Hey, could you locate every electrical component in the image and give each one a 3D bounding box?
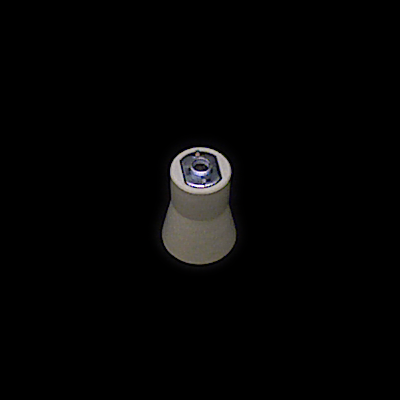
[{"bbox_3d":[0.000,0.000,0.626,0.044,0.044,0.065,0,-38,-2],"label":"electrical component"}]
